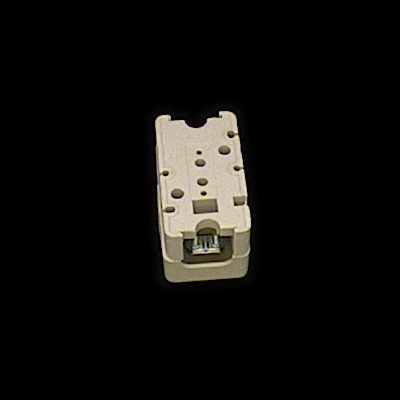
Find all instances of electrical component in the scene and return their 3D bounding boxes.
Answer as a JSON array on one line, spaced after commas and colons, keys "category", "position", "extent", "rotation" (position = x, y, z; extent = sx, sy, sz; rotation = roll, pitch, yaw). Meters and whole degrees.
[{"category": "electrical component", "position": [0.000, 0.000, 0.637], "extent": [0.050, 0.089, 0.056], "rotation": [-4, -36, -3]}]
